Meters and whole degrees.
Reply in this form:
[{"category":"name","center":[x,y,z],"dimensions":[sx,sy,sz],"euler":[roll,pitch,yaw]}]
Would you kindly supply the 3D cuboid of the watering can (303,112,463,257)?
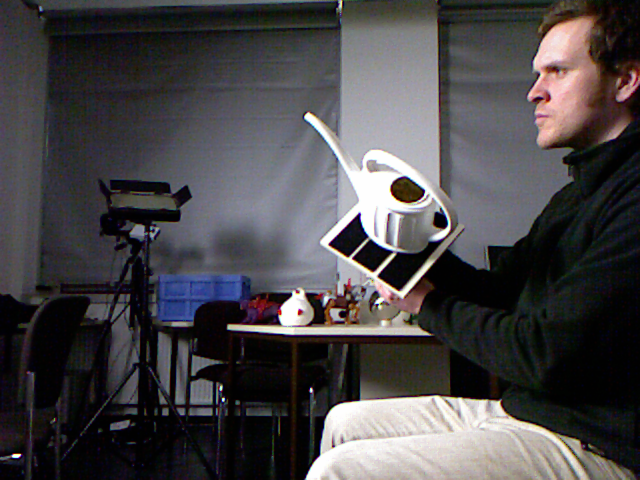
[{"category":"watering can","center":[0.108,-0.095,0.964],"dimensions":[0.352,0.106,0.220],"euler":[36,-26,21]}]
